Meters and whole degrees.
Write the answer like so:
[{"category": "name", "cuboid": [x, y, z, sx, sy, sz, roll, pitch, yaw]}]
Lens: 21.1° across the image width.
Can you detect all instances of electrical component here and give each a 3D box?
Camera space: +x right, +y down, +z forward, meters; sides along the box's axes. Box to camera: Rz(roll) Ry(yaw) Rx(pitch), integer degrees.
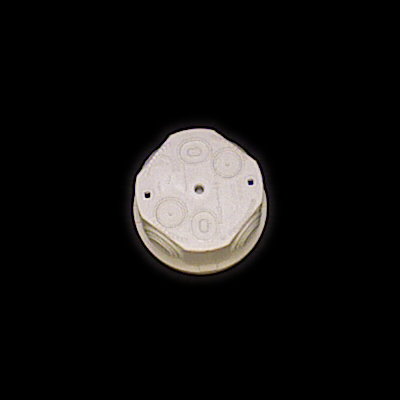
[{"category": "electrical component", "cuboid": [0.000, 0.000, 0.632, 0.080, 0.080, 0.050, 0, -17, 1]}]
